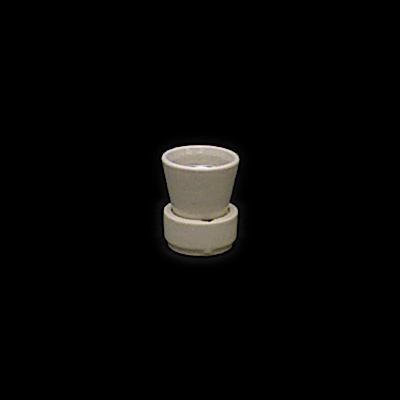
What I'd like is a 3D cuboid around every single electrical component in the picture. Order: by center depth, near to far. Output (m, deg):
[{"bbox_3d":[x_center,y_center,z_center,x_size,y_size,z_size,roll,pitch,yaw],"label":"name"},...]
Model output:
[{"bbox_3d":[0.000,0.000,0.637,0.045,0.056,0.044,0,21,0],"label":"electrical component"}]
